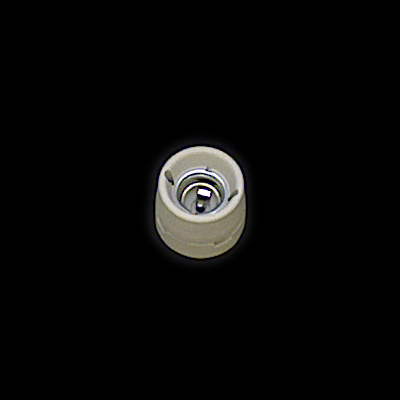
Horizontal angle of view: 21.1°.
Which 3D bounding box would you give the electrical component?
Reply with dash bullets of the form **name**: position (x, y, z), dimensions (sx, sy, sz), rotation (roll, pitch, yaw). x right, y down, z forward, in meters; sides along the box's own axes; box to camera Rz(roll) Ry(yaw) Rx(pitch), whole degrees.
- **electrical component**: position (0.000, 0.000, 0.632), dimensions (0.055, 0.056, 0.047), rotation (0, -26, -1)
